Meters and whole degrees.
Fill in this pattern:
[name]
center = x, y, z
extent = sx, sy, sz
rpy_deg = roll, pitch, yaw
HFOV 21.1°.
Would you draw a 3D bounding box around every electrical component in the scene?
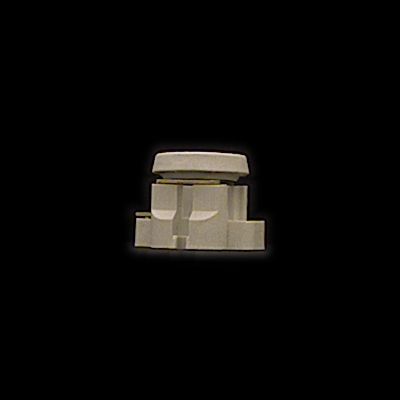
[electrical component]
center = 0.000, 0.000, 0.649
extent = 0.078, 0.057, 0.058
rpy_deg = 1, 1, 24
